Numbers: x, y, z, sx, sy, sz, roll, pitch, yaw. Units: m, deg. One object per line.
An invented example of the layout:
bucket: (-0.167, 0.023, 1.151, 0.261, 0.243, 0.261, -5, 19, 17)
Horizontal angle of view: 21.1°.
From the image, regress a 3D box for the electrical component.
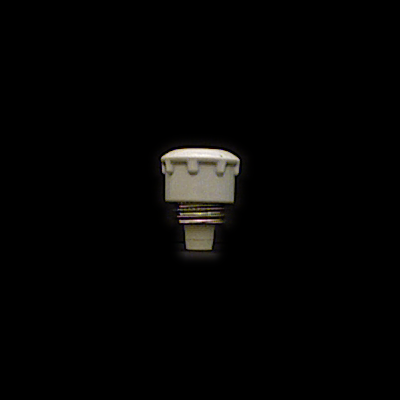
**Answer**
electrical component: (0.000, 0.000, 0.654, 0.048, 0.062, 0.048, 1, 1, 1)
